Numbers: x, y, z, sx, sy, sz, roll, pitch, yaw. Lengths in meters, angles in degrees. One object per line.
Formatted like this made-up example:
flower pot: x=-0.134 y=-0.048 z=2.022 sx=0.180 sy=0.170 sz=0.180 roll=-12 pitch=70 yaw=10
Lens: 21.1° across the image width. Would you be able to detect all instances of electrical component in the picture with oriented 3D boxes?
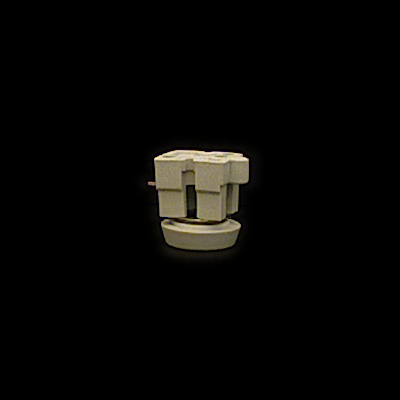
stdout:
electrical component: x=0.000 y=0.000 z=0.652 sx=0.066 sy=0.056 sz=0.048 roll=5 pitch=14 yaw=20
